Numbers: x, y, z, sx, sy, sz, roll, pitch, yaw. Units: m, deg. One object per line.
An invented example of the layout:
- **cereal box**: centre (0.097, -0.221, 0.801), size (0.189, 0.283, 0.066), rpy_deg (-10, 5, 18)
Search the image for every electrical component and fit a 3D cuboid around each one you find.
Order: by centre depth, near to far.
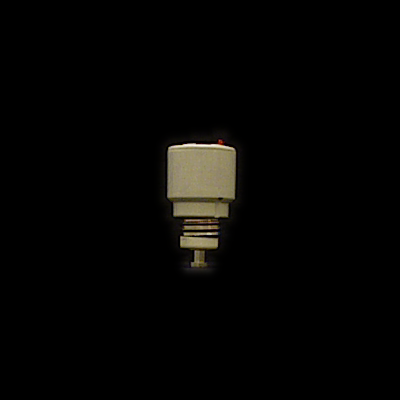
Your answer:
- **electrical component**: centre (0.000, 0.000, 0.651), size (0.040, 0.078, 0.040), rpy_deg (2, 1, 0)
